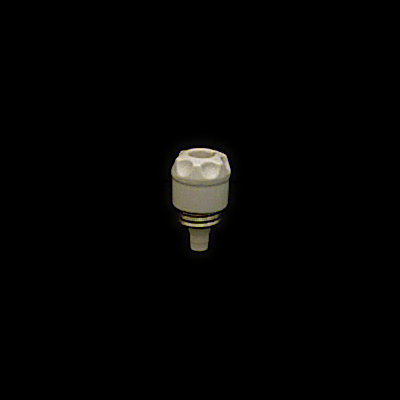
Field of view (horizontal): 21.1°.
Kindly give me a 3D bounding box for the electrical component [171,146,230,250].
[{"bbox_3d":[0.000,0.000,0.645,0.035,0.062,0.034,1,22,0],"label":"electrical component"}]
